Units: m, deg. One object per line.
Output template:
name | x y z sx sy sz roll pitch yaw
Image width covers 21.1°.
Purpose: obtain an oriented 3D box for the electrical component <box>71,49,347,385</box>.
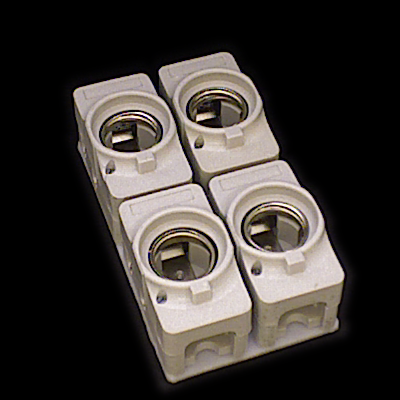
electrical component | 0.000 0.000 0.627 0.105 0.185 0.060 -15 -35 -12
